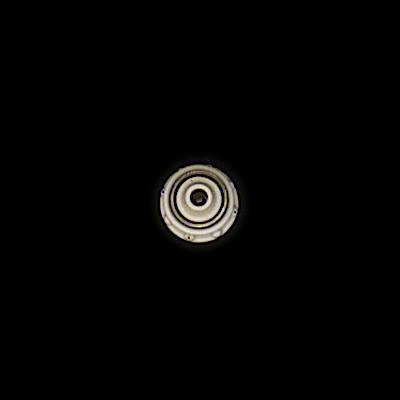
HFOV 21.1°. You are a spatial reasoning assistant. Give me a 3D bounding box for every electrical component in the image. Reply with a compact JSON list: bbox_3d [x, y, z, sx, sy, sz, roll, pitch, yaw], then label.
[{"bbox_3d":[0.000,0.000,0.635,0.048,0.048,0.062,0,-4,0],"label":"electrical component"}]
